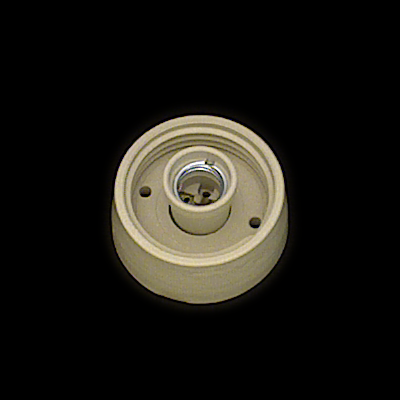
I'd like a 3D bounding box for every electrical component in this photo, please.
[{"bbox_3d":[0.000,0.000,0.633,0.108,0.108,0.060,0,-27,-1],"label":"electrical component"}]
